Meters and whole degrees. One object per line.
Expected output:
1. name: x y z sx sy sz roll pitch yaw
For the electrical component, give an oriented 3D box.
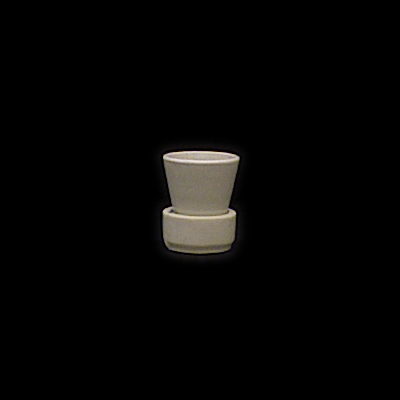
1. electrical component: 0.000 0.000 0.644 0.045 0.055 0.044 1 12 0
